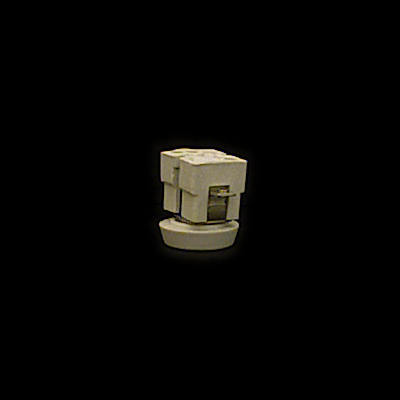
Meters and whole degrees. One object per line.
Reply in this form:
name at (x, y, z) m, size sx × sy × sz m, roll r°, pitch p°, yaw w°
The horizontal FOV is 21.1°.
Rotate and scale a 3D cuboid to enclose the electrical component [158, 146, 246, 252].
electrical component at (0.000, 0.000, 0.652) m, size 0.049 × 0.056 × 0.065 m, roll -4°, pitch 14°, yaw -29°
